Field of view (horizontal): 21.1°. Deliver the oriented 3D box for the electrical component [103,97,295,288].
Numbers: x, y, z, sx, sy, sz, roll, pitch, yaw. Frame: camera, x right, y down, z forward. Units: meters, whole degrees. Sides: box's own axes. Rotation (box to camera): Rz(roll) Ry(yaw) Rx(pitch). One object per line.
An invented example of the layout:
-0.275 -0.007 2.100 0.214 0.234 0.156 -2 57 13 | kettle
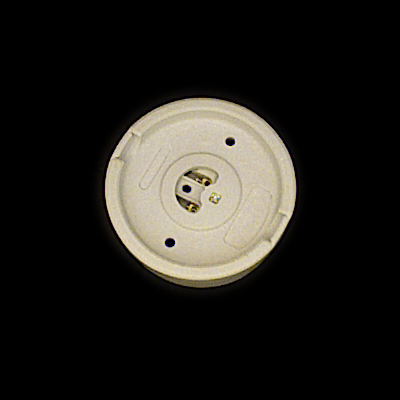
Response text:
0.000 0.000 0.634 0.108 0.108 0.060 0 -16 1 | electrical component
